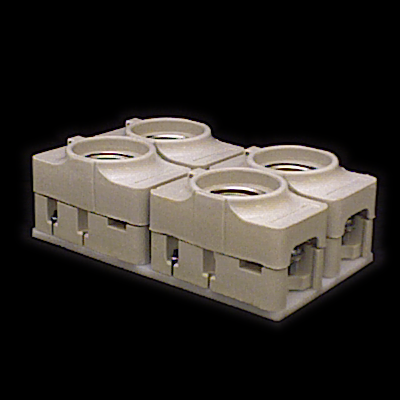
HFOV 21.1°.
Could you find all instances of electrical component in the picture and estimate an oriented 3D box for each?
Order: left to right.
[{"bbox_3d":[0.000,0.000,0.638,0.185,0.061,0.105,16,25,35],"label":"electrical component"}]
